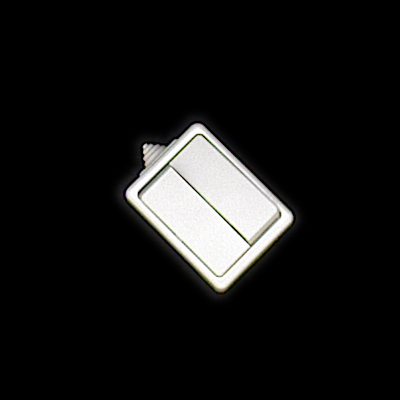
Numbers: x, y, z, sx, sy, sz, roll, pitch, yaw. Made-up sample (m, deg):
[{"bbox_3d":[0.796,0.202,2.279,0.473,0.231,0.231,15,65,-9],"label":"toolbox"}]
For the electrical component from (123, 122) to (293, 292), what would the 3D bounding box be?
[{"bbox_3d":[0.000,0.000,0.627,0.062,0.096,0.061,-44,-5,-4],"label":"electrical component"}]
